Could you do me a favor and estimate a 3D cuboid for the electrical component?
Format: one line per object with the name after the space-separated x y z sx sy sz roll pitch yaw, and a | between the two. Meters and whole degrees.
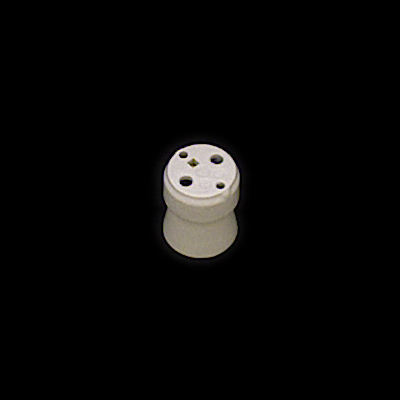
0.000 0.000 0.631 0.045 0.044 0.055 0 -37 -1 | electrical component
